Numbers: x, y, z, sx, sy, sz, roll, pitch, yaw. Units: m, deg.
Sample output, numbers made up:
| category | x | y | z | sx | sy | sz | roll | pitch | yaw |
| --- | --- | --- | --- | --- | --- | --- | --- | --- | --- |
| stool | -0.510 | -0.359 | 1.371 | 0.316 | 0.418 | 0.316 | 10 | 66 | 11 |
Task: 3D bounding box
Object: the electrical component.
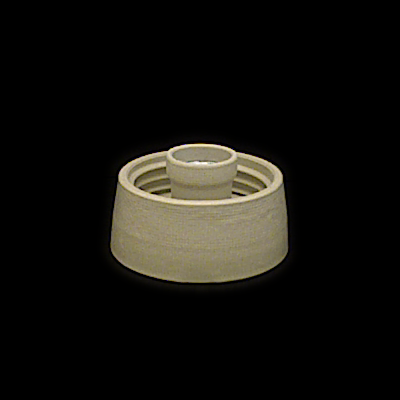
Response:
| category | x | y | z | sx | sy | sz | roll | pitch | yaw |
| --- | --- | --- | --- | --- | --- | --- | --- | --- | --- |
| electrical component | 0.000 | 0.000 | 0.644 | 0.108 | 0.061 | 0.106 | 1 | 21 | 0 |
